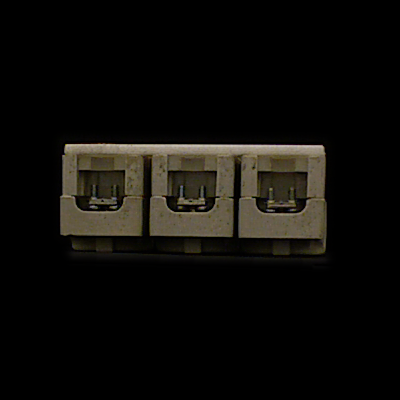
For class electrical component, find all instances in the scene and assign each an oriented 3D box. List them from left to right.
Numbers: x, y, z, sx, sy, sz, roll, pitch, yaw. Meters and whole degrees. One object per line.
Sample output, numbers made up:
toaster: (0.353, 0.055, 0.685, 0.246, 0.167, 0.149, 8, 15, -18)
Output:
electrical component: (0.000, 0.000, 0.655, 0.150, 0.062, 0.089, 1, -1, 7)
